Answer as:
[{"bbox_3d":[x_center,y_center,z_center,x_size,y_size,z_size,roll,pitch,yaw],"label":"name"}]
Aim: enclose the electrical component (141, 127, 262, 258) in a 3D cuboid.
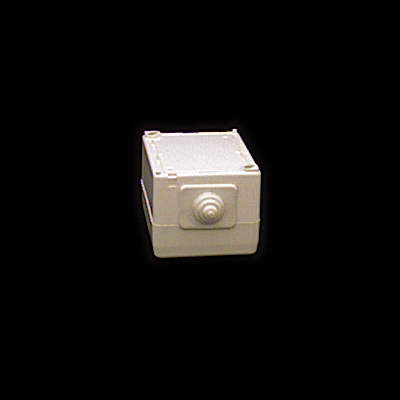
[{"bbox_3d":[0.000,0.000,0.637,0.062,0.061,0.095,-2,22,-8],"label":"electrical component"}]
